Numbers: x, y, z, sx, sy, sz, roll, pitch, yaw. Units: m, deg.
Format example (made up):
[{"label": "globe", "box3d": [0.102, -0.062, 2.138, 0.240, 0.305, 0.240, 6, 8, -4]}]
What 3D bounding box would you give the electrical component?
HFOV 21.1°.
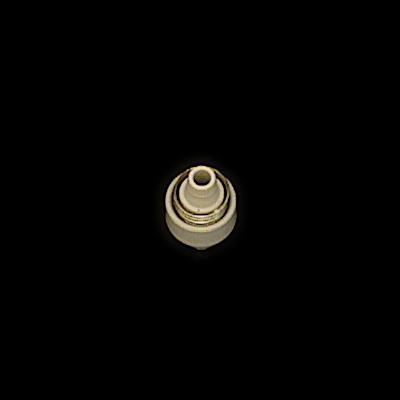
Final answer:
[{"label": "electrical component", "box3d": [0.000, 0.000, 0.633, 0.043, 0.043, 0.062, 0, -26, -1]}]
